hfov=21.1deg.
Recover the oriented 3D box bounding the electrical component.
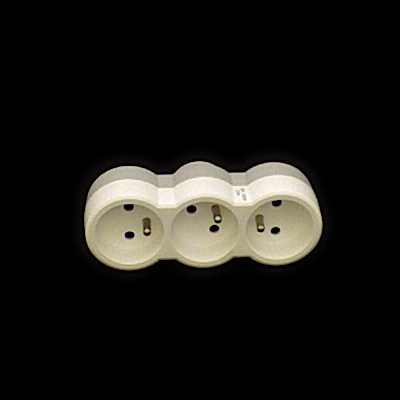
[{"bbox_3d":[0.000,0.000,0.646,0.138,0.053,0.072,-2,31,-4],"label":"electrical component"}]
